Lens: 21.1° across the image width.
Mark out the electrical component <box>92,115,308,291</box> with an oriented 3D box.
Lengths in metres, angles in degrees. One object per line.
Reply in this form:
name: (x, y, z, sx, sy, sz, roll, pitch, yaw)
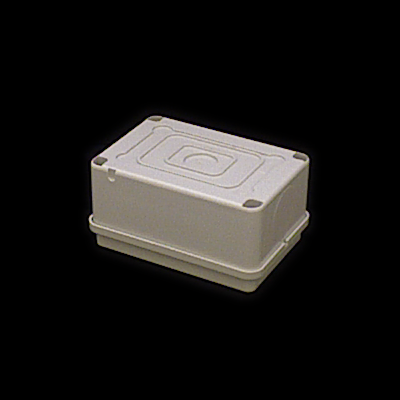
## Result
electrical component: (0.000, 0.000, 0.635, 0.112, 0.058, 0.077, 17, 35, 23)
